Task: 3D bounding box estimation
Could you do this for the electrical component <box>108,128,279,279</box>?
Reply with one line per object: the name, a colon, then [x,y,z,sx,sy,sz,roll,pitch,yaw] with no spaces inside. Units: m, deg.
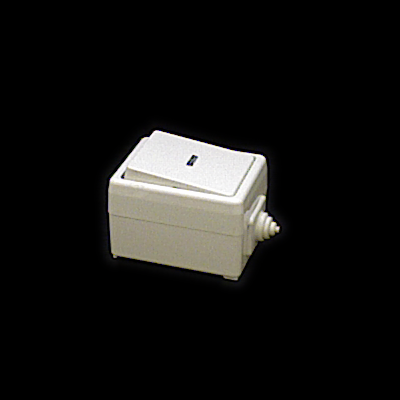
electrical component: [0.000,0.000,0.633,0.096,0.061,0.061,10,32,14]
